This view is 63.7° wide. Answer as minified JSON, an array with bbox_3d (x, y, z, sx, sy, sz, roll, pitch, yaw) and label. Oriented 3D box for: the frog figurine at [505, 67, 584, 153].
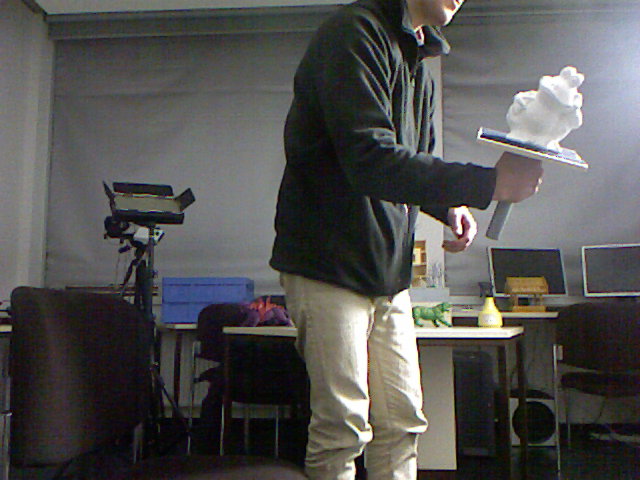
[{"bbox_3d":[0.447,-0.265,1.017,0.139,0.157,0.124,26,27,26],"label":"frog figurine"}]
